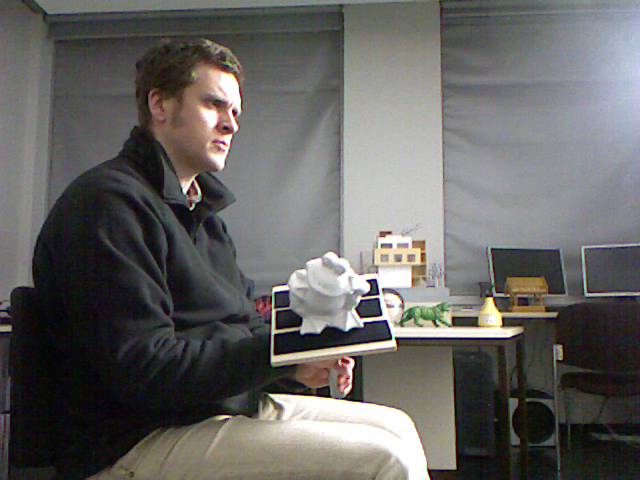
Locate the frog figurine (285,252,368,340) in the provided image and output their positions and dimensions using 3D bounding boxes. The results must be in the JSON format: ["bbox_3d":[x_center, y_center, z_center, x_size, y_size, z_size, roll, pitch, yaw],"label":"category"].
[{"bbox_3d":[0.008,0.073,0.845,0.138,0.156,0.126,4,35,17],"label":"frog figurine"}]
